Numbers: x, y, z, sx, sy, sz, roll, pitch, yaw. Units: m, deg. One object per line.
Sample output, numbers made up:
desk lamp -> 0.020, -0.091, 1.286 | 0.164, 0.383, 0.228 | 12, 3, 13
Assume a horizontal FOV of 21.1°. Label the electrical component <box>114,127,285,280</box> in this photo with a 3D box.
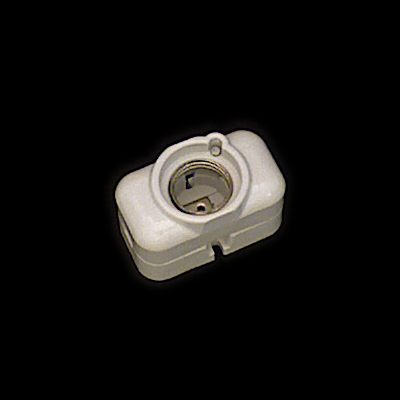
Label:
electrical component -> 0.000, 0.000, 0.634 | 0.095, 0.053, 0.059 | -23, -24, -11
